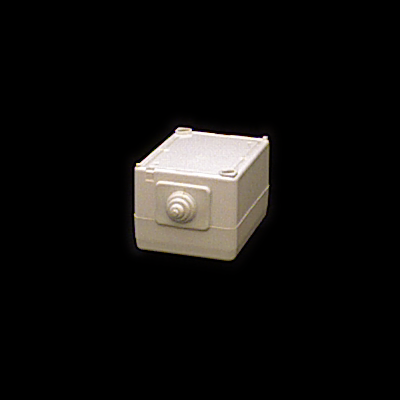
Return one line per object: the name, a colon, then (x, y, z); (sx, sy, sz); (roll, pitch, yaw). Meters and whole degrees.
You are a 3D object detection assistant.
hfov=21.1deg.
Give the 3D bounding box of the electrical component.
electrical component: (0.000, 0.000, 0.639); (0.061, 0.061, 0.095); (7, 22, 16)
